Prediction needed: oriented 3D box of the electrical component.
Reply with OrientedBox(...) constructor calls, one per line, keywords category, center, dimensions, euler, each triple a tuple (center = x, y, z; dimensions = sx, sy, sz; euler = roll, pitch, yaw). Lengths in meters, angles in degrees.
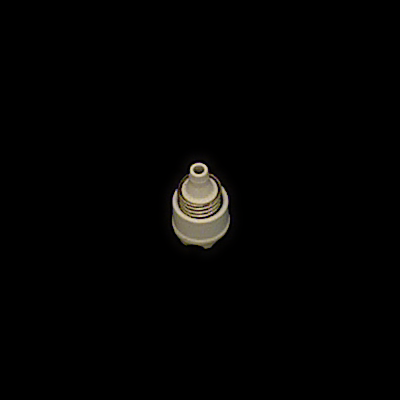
OrientedBox(category="electrical component", center=(0.000, 0.000, 0.639), dimensions=(0.035, 0.035, 0.062), euler=(0, -37, 2))
